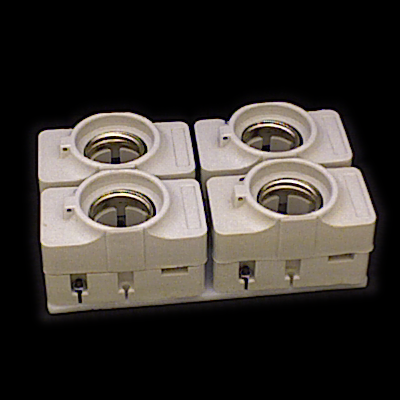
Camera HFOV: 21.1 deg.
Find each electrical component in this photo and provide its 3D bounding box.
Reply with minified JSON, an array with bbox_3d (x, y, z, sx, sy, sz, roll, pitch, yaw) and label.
[{"bbox_3d":[0.000,0.000,0.629,0.186,0.061,0.104,-4,42,-6],"label":"electrical component"}]
